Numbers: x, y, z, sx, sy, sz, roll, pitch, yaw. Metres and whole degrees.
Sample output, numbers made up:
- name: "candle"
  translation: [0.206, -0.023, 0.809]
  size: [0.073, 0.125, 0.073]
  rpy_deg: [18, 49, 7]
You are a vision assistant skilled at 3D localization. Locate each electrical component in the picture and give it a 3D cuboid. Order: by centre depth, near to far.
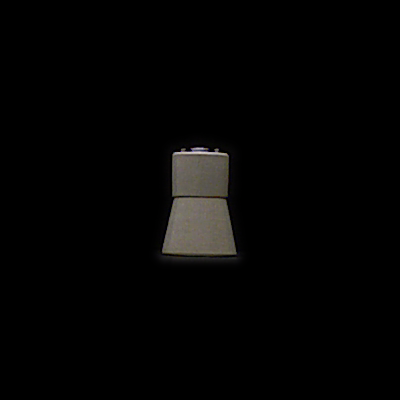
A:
- name: "electrical component"
  translation: [0.000, 0.000, 0.651]
  size: [0.044, 0.065, 0.044]
  rpy_deg: [1, 0, 0]
